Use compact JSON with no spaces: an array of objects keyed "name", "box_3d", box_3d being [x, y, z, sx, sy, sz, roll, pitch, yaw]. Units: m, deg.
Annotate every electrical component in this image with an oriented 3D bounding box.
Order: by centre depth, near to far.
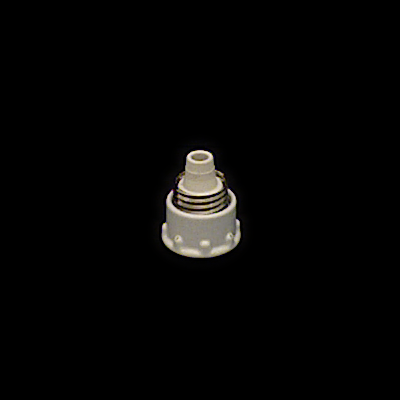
[{"name":"electrical component","box_3d":[0.000,0.000,0.640,0.048,0.063,0.047,0,32,1]}]
